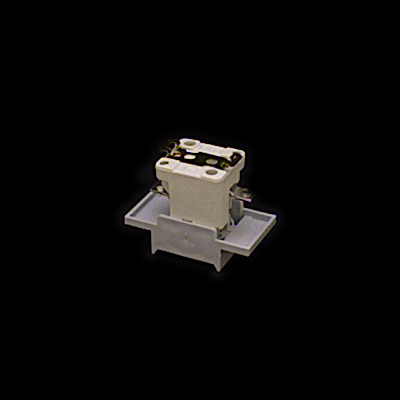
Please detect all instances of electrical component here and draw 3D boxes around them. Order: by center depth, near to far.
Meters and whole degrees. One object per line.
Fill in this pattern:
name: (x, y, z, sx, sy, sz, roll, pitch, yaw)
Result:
electrical component: (0.000, 0.000, 0.633, 0.080, 0.064, 0.042, 14, 34, 20)
